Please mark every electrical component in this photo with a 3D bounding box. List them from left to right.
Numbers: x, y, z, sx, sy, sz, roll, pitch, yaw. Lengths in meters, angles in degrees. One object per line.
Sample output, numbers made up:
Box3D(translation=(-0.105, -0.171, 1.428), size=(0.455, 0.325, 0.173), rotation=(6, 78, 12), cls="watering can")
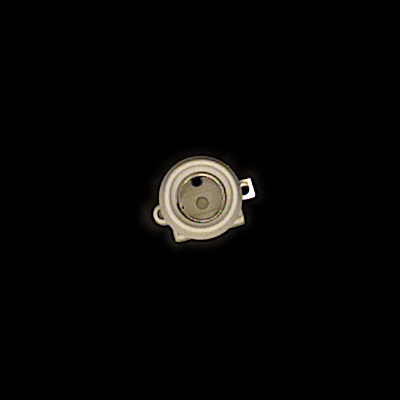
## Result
Box3D(translation=(0.000, 0.000, 0.639), size=(0.066, 0.048, 0.055), rotation=(-17, -4, -1), cls="electrical component")
